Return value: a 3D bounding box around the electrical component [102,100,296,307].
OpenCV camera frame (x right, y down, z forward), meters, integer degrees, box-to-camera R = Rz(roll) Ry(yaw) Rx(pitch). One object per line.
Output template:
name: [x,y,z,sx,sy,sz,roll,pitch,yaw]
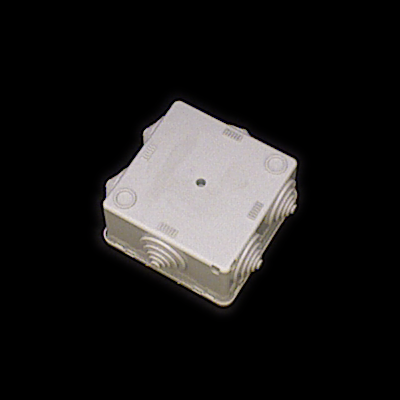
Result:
electrical component: [0.000,0.000,0.631,0.099,0.100,0.048,28,-23,13]
